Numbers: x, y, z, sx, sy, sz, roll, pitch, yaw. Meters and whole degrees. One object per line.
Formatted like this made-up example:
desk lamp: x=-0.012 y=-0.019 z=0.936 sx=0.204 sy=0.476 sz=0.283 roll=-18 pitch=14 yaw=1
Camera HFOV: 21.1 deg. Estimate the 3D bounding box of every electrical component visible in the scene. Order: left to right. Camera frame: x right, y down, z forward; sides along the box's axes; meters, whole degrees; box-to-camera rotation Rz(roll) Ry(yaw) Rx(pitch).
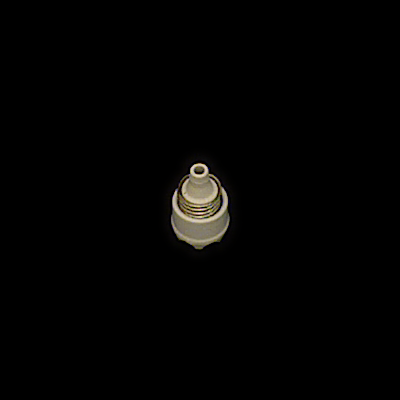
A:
electrical component: x=0.000 y=0.000 z=0.640 sx=0.035 sy=0.035 sz=0.062 roll=0 pitch=-36 yaw=1
